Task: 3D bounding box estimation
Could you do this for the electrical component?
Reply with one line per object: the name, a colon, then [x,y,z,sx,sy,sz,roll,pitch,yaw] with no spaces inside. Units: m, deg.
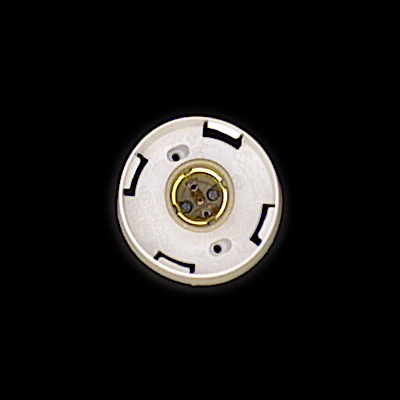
electrical component: [0.000,0.000,0.625,0.099,0.099,0.064,0,-7,0]
